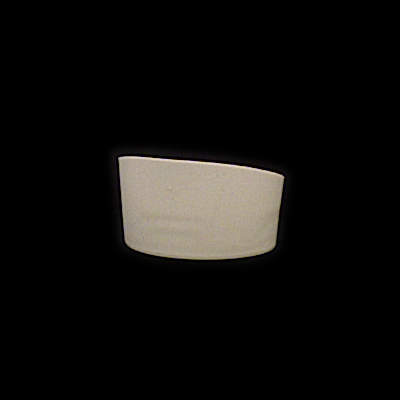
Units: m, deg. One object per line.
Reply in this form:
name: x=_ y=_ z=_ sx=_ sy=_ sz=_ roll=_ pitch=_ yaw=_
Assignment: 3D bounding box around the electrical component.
electrical component: x=0.000 y=0.000 z=0.642 sx=0.099 sy=0.064 sz=0.098 roll=1 pitch=11 yaw=0
